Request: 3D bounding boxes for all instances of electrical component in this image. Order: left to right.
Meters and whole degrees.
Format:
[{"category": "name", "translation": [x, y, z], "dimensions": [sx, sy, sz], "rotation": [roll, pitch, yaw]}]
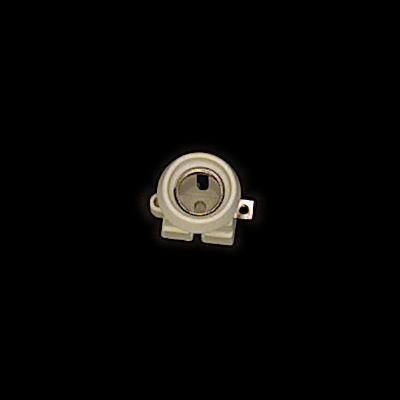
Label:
[{"category": "electrical component", "translation": [0.000, 0.000, 0.638], "dimensions": [0.066, 0.048, 0.055], "rotation": [5, -14, 2]}]
